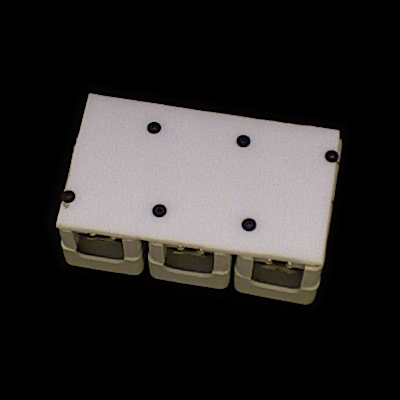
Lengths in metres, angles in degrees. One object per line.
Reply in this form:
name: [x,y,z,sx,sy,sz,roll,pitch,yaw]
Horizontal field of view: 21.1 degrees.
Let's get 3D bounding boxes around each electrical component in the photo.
electrical component: [0.000,0.000,0.632,0.150,0.089,0.062,9,-27,4]
